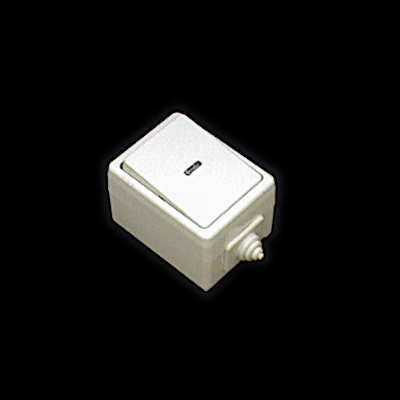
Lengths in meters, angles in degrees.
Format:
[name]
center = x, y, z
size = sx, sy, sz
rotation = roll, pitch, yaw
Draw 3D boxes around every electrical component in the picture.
[electrical component]
center = 0.000, 0.000, 0.627
size = 0.096, 0.061, 0.062
rotation = 36, 60, 24
